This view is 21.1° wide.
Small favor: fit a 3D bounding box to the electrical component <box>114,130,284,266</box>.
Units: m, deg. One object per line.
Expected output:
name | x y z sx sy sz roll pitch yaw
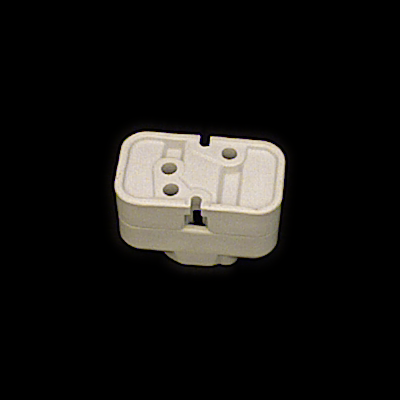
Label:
electrical component | 0.000 0.000 0.635 0.095 0.053 0.059 5 -37 3
